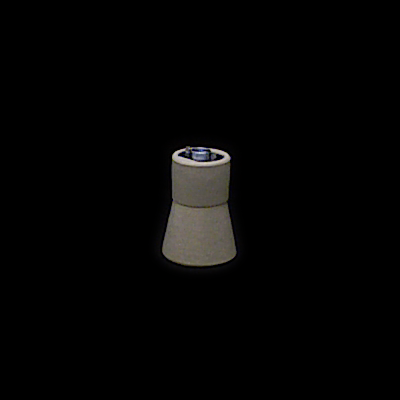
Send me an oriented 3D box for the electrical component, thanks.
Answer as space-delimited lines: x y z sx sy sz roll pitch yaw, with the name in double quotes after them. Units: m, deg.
0.000 0.000 0.639 0.044 0.066 0.044 1 20 0 "electrical component"
